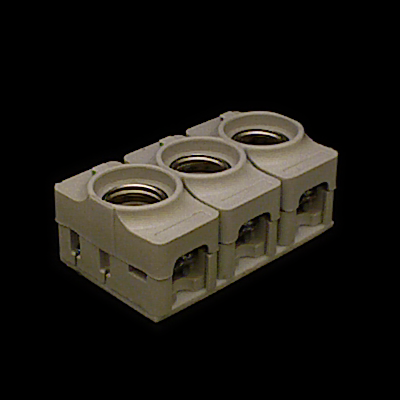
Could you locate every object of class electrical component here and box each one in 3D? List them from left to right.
[{"bbox_3d":[0.000,0.000,0.641,0.149,0.063,0.088,-26,39,-38],"label":"electrical component"}]
